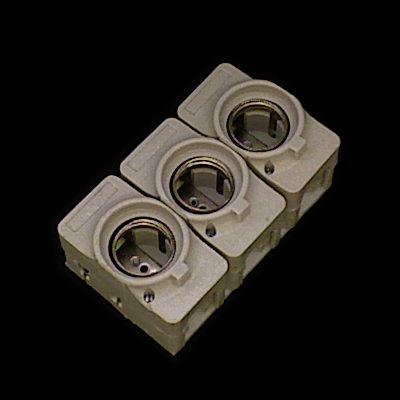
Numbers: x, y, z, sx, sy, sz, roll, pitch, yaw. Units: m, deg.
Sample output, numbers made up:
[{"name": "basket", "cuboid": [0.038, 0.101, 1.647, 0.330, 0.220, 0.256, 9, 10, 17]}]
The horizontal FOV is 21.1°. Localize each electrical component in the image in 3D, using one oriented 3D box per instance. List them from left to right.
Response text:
[{"name": "electrical component", "cuboid": [0.000, 0.000, 0.631, 0.089, 0.150, 0.062, 37, -21, 17]}]
